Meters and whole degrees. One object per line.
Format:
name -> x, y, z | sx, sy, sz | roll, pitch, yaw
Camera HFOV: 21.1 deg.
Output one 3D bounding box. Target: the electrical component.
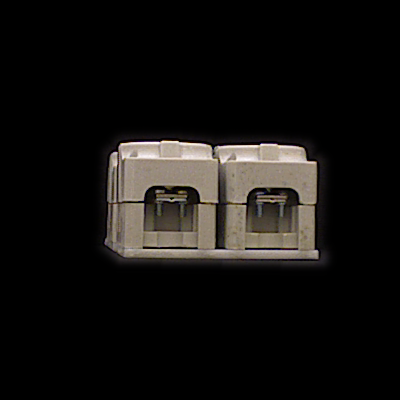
electrical component -> 0.000, 0.000, 0.650 | 0.105, 0.060, 0.186 | 1, 0, -8
